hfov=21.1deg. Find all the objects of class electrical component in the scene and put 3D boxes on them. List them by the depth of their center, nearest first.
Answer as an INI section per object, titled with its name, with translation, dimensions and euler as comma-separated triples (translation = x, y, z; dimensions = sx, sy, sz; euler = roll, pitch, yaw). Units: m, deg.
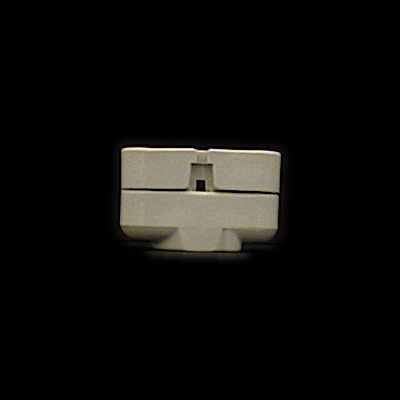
[electrical component]
translation = 0.000, 0.000, 0.654
dimensions = 0.095, 0.059, 0.053
euler = 2, 1, -3
